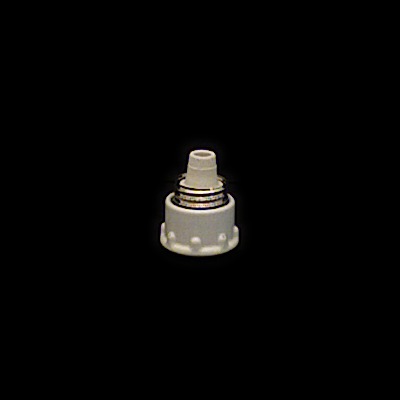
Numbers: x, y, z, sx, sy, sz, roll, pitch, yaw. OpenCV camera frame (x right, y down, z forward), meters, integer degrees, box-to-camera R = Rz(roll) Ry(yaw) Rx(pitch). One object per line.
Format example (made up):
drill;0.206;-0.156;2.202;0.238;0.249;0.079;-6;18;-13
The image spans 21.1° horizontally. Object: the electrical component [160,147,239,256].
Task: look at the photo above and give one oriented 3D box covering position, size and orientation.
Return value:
electrical component;0.000;0.000;0.647;0.048;0.063;0.047;2;22;0
